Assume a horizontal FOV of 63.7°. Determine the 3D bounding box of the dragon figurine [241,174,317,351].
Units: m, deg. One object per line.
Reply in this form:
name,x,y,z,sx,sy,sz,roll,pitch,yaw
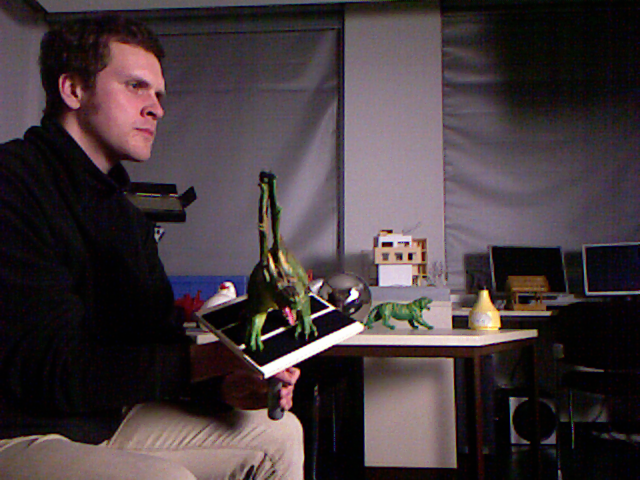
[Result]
dragon figurine,-0.068,0.011,0.812,0.122,0.238,0.420,-3,30,-9
